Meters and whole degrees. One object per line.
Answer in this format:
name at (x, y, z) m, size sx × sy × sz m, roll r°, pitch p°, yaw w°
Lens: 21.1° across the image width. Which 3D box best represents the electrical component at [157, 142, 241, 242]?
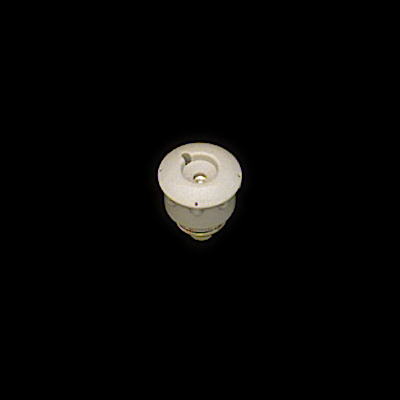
electrical component at (0.000, 0.000, 0.634) m, size 0.048 × 0.048 × 0.062 m, roll 0°, pitch -37°, yaw 0°
